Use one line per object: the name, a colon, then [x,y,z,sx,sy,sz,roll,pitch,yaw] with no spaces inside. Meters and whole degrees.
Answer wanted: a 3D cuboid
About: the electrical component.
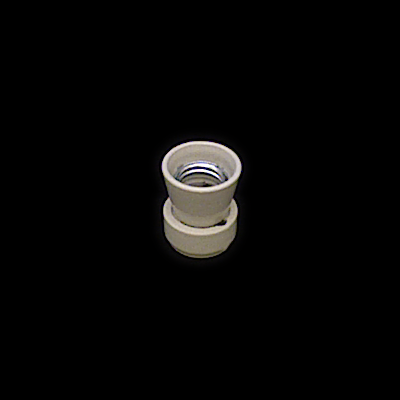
electrical component: [0.000,0.000,0.633,0.045,0.056,0.044,1,42,-1]
